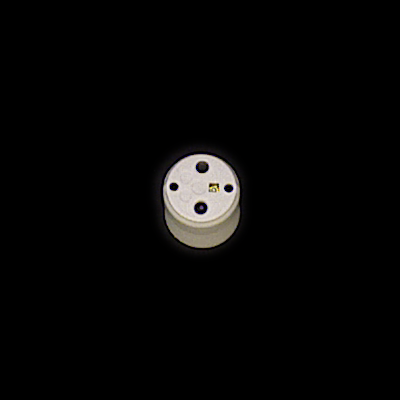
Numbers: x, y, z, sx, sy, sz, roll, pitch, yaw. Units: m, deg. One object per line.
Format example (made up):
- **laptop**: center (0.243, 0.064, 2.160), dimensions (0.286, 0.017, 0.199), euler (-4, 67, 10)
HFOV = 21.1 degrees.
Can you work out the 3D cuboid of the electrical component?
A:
- **electrical component**: center (0.000, 0.000, 0.628), dimensions (0.045, 0.045, 0.055), euler (0, -16, 1)
